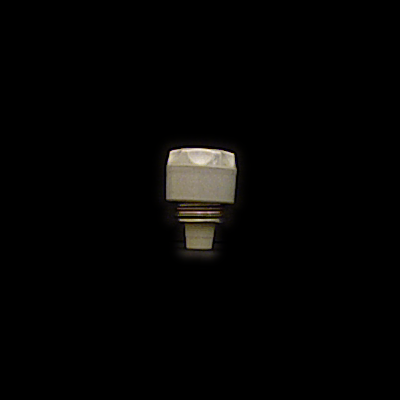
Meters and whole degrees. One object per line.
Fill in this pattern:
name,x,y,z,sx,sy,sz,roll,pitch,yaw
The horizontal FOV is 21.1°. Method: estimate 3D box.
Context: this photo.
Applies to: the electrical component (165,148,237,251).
electrical component,0.000,0.000,0.657,0.043,0.062,0.043,2,1,0
